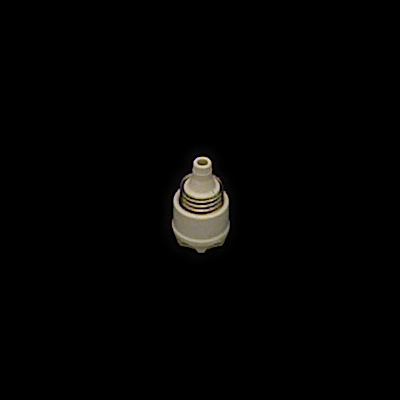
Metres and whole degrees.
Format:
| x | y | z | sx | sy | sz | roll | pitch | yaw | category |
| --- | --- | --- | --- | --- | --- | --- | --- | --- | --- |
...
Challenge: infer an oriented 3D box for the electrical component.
| x | y | z | sx | sy | sz | roll | pitch | yaw | category |
| --- | --- | --- | --- | --- | --- | --- | --- | --- | --- |
| 0.000 | 0.000 | 0.643 | 0.035 | 0.062 | 0.035 | 1 | 43 | -1 | electrical component |
